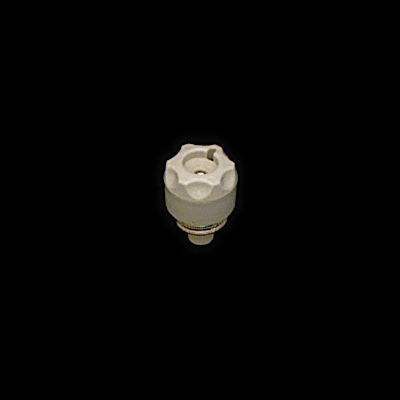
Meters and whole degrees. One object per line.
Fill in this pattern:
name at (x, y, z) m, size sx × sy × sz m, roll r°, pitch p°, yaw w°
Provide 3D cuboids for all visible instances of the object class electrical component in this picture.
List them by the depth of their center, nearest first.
electrical component at (0.000, 0.000, 0.637) m, size 0.043 × 0.062 × 0.043 m, roll 0°, pitch 43°, yaw 0°
